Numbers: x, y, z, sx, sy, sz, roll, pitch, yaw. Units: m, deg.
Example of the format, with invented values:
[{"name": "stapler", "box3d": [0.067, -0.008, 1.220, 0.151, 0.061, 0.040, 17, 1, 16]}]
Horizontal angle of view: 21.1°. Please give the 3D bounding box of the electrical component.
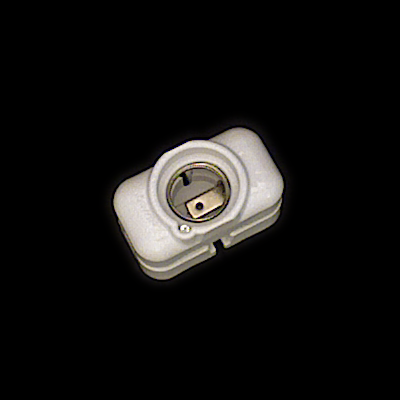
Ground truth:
[{"name": "electrical component", "box3d": [0.000, 0.000, 0.633, 0.095, 0.054, 0.059, -27, -15, -7]}]
